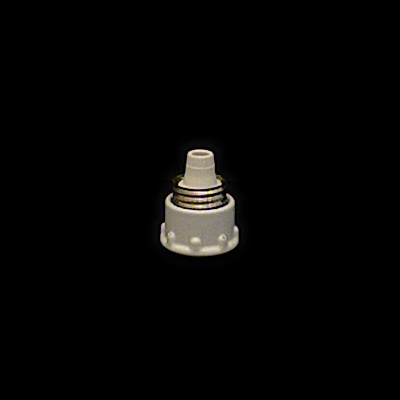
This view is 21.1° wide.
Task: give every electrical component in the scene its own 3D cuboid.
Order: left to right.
[{"bbox_3d":[0.000,0.000,0.647,0.048,0.063,0.047,1,21,0],"label":"electrical component"}]
